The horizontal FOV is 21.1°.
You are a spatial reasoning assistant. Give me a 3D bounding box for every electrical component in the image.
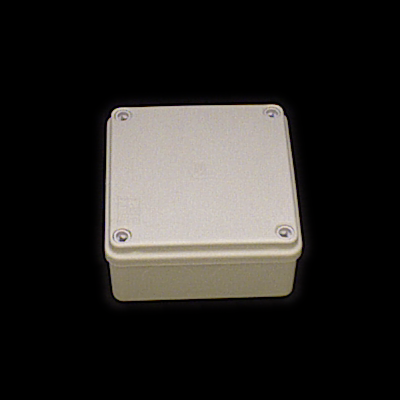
[{"bbox_3d":[0.000,0.000,0.631,0.109,0.108,0.056,-1,-38,-2],"label":"electrical component"}]
